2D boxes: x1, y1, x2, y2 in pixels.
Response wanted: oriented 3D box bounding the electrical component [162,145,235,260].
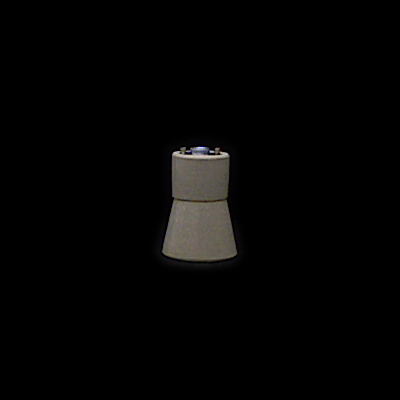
[{"bbox_3d":[0.000,0.000,0.645,0.044,0.066,0.044,1,10,0],"label":"electrical component"}]
